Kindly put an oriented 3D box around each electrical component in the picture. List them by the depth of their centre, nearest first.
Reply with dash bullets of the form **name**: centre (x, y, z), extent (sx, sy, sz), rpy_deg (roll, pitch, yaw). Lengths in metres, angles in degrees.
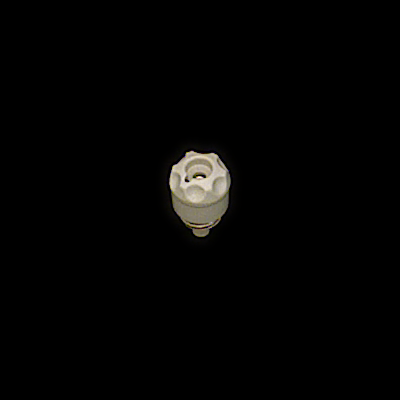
- **electrical component**: centre (0.000, 0.000, 0.634), extent (0.035, 0.035, 0.061), rpy_deg (0, -37, 0)
